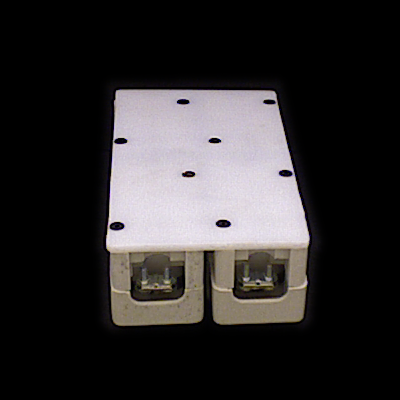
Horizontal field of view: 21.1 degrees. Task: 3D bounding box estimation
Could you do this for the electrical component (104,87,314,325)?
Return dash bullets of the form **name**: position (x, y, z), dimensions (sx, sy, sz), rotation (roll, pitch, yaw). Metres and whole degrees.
- **electrical component**: position (0.000, 0.000, 0.633), dimensions (0.105, 0.061, 0.183), rotation (0, 31, -3)
